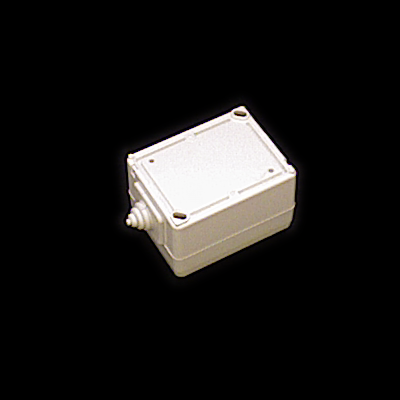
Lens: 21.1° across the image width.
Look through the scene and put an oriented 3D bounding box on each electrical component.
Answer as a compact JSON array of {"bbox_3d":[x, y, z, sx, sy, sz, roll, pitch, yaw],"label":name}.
[{"bbox_3d":[0.000,0.000,0.630,0.096,0.061,0.061,-25,-34,-17],"label":"electrical component"}]
